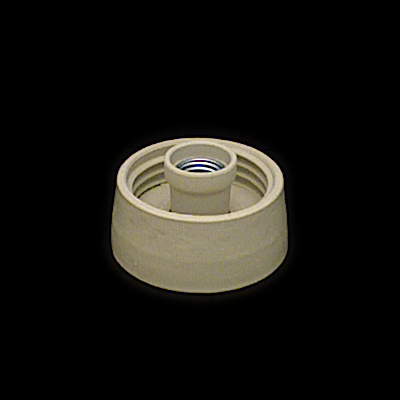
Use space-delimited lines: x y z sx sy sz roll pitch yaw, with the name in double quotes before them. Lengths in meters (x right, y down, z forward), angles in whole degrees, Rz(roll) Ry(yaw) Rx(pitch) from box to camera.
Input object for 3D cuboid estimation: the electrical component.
"electrical component" 0.000 0.000 0.642 0.108 0.061 0.106 1 32 0
